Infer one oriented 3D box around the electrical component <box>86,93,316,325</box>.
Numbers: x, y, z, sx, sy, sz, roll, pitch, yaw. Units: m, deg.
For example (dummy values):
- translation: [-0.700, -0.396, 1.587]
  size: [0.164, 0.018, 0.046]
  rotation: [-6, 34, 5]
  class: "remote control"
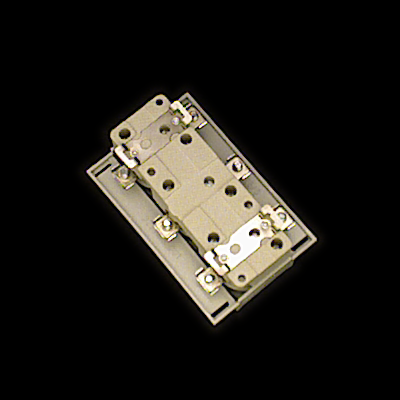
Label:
- translation: [0.000, 0.000, 0.633]
  size: [0.079, 0.121, 0.062]
  rotation: [-39, -13, -9]
  class: "electrical component"
